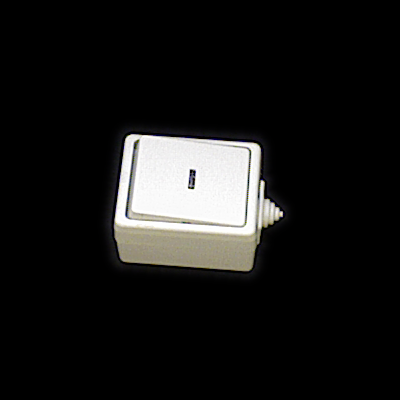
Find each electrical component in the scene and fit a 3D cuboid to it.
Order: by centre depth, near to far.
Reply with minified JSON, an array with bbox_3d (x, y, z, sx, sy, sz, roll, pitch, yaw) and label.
[{"bbox_3d":[0.000,0.000,0.626,0.096,0.062,0.061,4,-27,2],"label":"electrical component"}]
